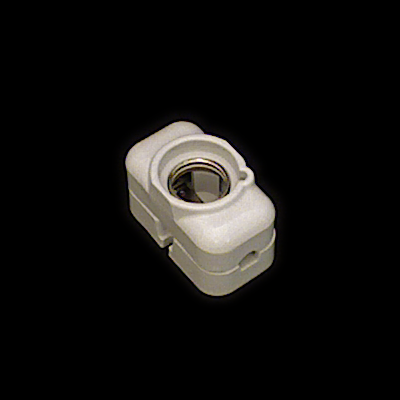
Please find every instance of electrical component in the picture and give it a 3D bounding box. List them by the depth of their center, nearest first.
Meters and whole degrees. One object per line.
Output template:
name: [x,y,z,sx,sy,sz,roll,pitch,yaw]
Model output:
electrical component: [0.000,0.000,0.636,0.054,0.094,0.059,-32,-30,-21]
